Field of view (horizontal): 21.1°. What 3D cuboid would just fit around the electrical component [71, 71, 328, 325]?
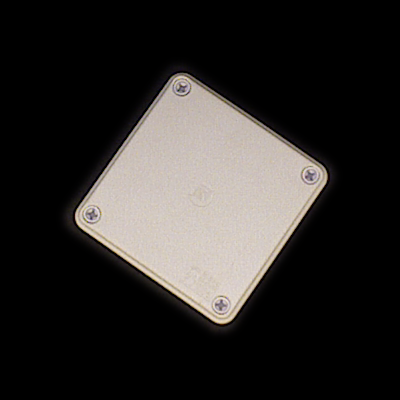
[{"bbox_3d":[0.000,0.000,0.631,0.109,0.109,0.056,35,-6,4],"label":"electrical component"}]
